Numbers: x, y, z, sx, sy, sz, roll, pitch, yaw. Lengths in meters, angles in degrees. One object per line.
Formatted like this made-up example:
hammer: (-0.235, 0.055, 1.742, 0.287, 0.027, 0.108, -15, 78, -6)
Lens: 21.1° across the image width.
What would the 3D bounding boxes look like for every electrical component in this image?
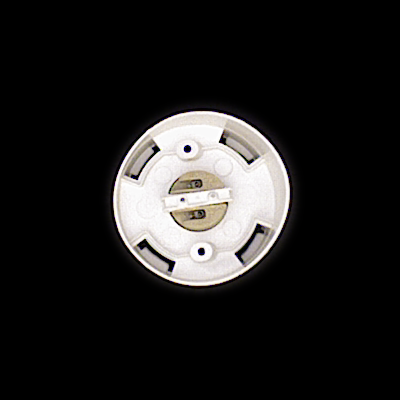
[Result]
electrical component: (0.000, 0.000, 0.625, 0.099, 0.099, 0.064, 0, -7, -1)
